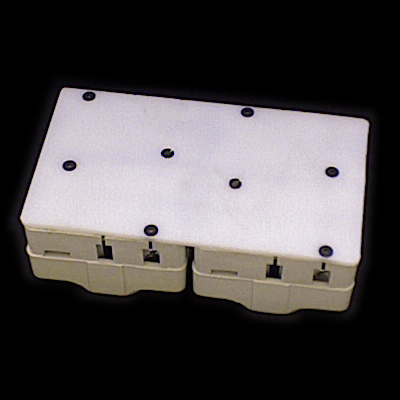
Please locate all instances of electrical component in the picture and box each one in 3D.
[{"bbox_3d":[0.000,0.000,0.627,0.186,0.105,0.060,7,-38,4],"label":"electrical component"}]
